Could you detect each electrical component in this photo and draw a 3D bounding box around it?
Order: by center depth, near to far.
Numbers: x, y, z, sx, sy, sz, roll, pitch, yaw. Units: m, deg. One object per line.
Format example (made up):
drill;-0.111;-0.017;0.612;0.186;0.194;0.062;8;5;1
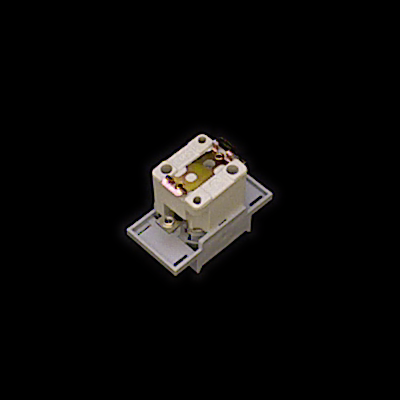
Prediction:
electrical component;0.000;0.000;0.626;0.081;0.064;0.042;-38;62;-26
